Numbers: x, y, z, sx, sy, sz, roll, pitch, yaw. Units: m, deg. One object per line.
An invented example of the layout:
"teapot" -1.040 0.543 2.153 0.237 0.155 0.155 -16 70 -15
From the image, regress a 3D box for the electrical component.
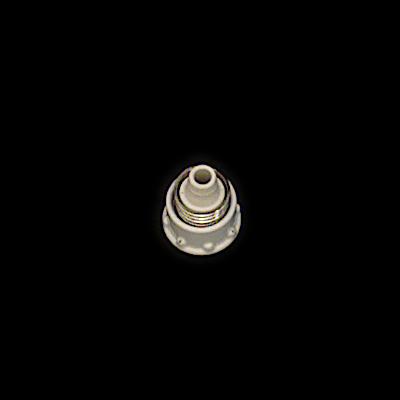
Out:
"electrical component" 0.000 0.000 0.634 0.048 0.048 0.062 0 -27 -1
